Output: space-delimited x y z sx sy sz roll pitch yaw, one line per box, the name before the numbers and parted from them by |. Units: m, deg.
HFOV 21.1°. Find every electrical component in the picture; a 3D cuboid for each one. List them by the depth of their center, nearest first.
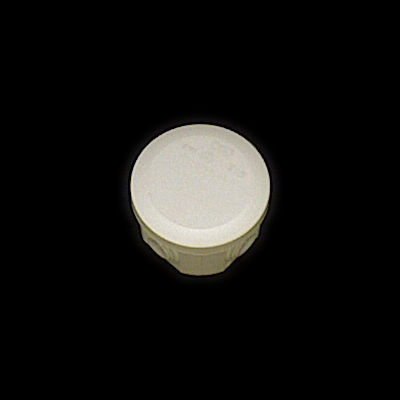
electrical component | 0.000 0.000 0.629 0.080 0.080 0.050 0 -27 0
